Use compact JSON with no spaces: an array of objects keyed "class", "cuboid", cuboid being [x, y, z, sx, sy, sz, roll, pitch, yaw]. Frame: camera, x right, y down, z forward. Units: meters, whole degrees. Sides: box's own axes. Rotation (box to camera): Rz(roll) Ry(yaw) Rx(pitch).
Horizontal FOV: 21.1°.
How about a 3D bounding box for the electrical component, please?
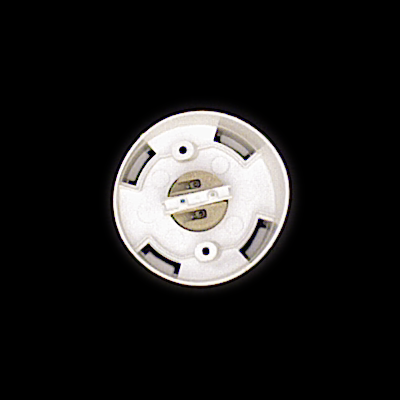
[{"class":"electrical component","cuboid":[0.000,0.000,0.624,0.099,0.099,0.064,0,-7,-1]}]
